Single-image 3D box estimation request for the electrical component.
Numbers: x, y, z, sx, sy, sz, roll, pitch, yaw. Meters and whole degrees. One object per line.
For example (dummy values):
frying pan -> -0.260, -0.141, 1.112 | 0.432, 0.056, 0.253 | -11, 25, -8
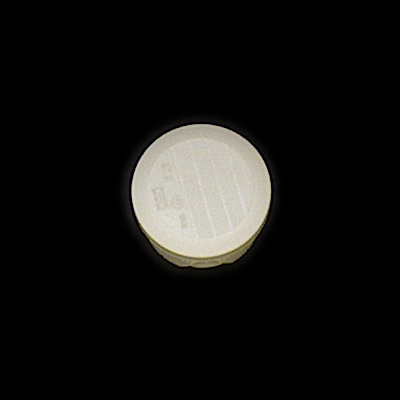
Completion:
electrical component -> 0.000, 0.000, 0.631 | 0.080, 0.080, 0.050 | 0, -17, 0
